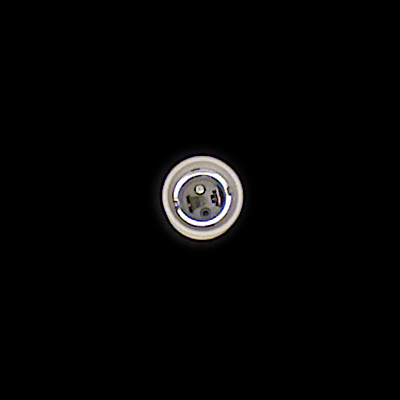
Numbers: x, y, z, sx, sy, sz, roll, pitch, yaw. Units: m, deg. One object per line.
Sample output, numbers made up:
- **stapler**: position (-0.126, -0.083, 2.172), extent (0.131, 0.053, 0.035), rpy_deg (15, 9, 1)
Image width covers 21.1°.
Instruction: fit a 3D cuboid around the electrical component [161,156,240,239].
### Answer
- **electrical component**: position (0.000, 0.000, 0.629), extent (0.045, 0.045, 0.055), rpy_deg (0, -6, 0)
